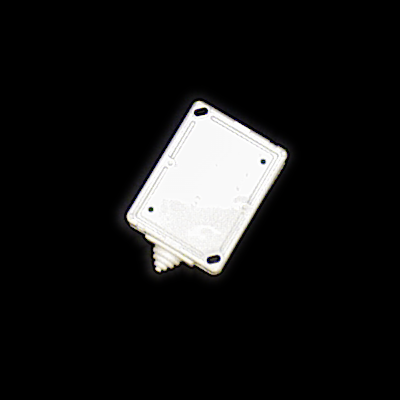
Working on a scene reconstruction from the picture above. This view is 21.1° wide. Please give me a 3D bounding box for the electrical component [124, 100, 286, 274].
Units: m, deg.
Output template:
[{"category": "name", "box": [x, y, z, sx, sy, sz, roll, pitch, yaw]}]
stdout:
[{"category": "electrical component", "box": [0.000, 0.000, 0.625, 0.062, 0.096, 0.060, 31, -6, 3]}]
